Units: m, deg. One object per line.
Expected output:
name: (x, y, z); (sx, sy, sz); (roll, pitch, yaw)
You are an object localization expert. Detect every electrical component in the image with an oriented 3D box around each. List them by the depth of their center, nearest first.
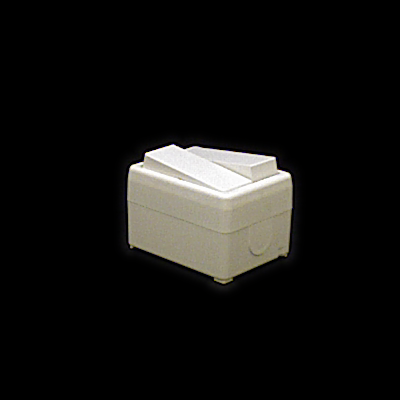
electrical component: (0.000, 0.000, 0.641); (0.095, 0.061, 0.061); (19, 27, 39)
